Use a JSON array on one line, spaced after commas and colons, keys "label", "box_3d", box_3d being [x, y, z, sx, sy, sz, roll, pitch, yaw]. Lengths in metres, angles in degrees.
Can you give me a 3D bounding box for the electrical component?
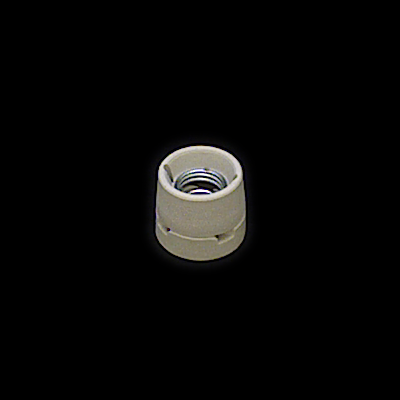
[{"label": "electrical component", "box_3d": [0.000, 0.000, 0.636, 0.055, 0.047, 0.055, 0, 42, 0]}]
